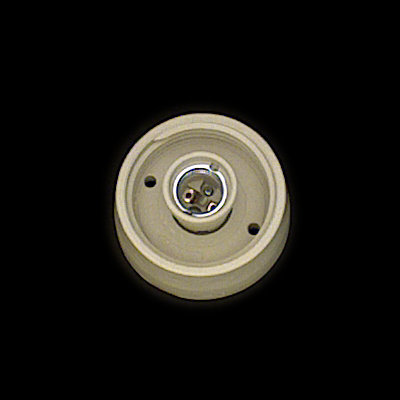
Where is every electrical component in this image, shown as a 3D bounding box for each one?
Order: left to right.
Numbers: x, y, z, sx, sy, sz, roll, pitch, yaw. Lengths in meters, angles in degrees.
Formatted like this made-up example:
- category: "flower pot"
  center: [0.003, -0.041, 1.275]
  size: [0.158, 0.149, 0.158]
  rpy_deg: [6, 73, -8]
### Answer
- category: "electrical component"
  center: [0.000, 0.000, 0.634]
  size: [0.108, 0.108, 0.060]
  rpy_deg: [0, -16, 0]
